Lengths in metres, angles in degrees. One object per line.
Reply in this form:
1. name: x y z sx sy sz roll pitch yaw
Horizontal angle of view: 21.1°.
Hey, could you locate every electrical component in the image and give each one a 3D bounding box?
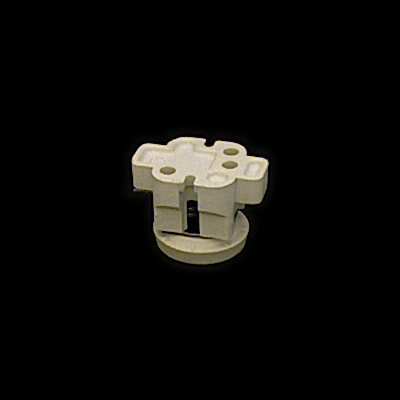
1. electrical component: 0.000 0.000 0.641 0.078 0.057 0.057 6 33 11
